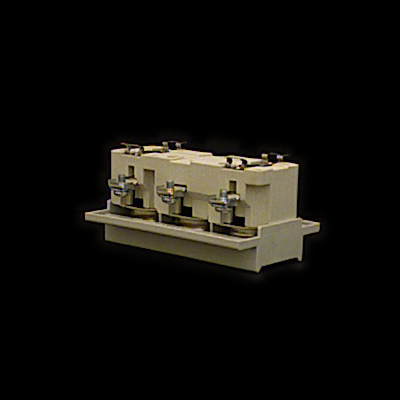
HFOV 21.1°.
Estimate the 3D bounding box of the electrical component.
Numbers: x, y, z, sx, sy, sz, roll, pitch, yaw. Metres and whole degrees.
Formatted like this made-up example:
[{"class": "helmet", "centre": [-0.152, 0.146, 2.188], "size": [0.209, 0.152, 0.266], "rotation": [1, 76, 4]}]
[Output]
[{"class": "electrical component", "centre": [0.000, 0.000, 0.654], "size": [0.120, 0.063, 0.079], "rotation": [10, 14, 39]}]
